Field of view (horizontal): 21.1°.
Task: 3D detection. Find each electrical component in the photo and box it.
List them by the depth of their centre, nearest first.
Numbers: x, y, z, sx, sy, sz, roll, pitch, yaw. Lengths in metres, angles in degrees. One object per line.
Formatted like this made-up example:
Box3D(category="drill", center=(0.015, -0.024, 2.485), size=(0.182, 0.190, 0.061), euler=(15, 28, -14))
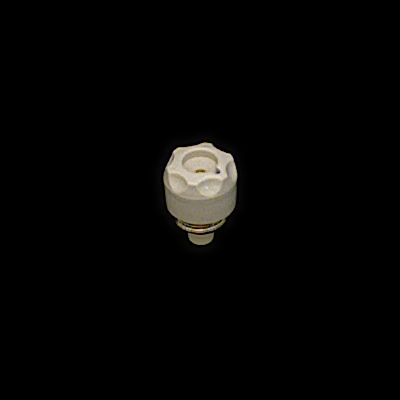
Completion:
Box3D(category="electrical component", center=(0.000, 0.000, 0.638), size=(0.043, 0.062, 0.043), euler=(0, 42, 1))
